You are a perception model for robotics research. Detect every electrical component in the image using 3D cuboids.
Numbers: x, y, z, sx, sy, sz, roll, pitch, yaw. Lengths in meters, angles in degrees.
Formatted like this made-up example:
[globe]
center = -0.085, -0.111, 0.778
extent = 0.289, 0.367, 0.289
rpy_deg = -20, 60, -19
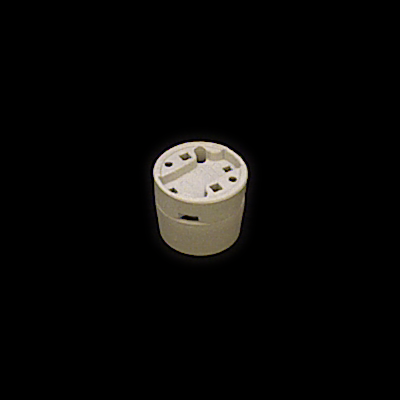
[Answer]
[electrical component]
center = 0.000, 0.000, 0.637
extent = 0.055, 0.047, 0.055
rpy_deg = 1, 43, 0
